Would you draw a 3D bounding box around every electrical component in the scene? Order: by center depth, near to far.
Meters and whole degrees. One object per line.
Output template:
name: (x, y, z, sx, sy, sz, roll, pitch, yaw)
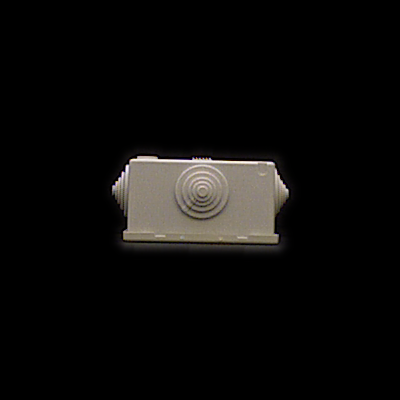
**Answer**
electrical component: (0.000, 0.000, 0.648, 0.100, 0.048, 0.099, 1, 0, -2)
